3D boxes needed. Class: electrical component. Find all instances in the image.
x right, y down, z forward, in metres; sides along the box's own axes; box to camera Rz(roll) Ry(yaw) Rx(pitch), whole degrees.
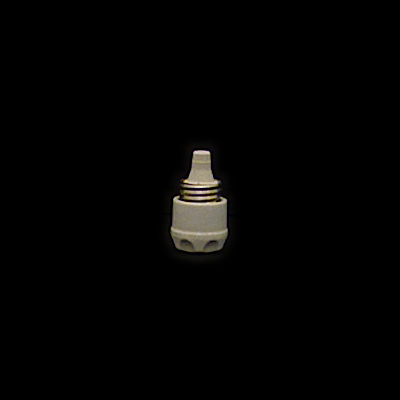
[{"bbox_3d":[0.000,0.000,0.659,0.035,0.062,0.035,2,13,0],"label":"electrical component"}]
